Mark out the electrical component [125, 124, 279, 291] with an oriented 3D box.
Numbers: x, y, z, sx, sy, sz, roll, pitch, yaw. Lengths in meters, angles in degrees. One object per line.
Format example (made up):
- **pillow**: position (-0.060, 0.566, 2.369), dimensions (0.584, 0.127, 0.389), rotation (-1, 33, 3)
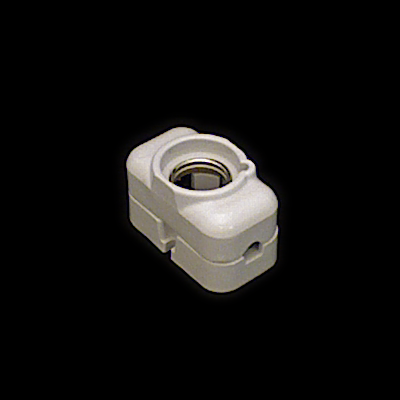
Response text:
- **electrical component**: position (0.000, 0.000, 0.638), dimensions (0.054, 0.060, 0.094), rotation (-30, 51, -28)
